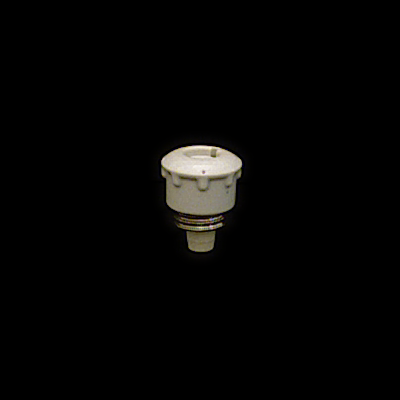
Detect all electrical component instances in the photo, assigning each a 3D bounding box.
[{"bbox_3d":[0.000,0.000,0.647,0.048,0.063,0.047,1,22,0],"label":"electrical component"}]
